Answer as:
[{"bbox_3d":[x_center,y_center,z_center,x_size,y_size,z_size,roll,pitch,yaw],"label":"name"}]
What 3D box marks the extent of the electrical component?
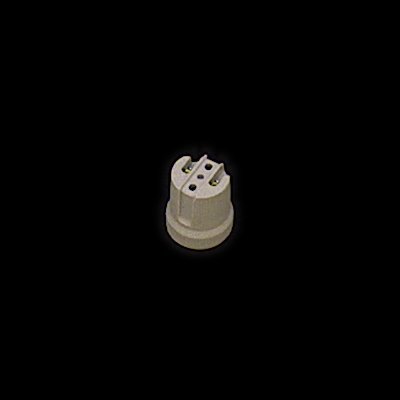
[{"bbox_3d":[0.000,0.000,0.634,0.040,0.040,0.046,0,-37,-1],"label":"electrical component"}]
